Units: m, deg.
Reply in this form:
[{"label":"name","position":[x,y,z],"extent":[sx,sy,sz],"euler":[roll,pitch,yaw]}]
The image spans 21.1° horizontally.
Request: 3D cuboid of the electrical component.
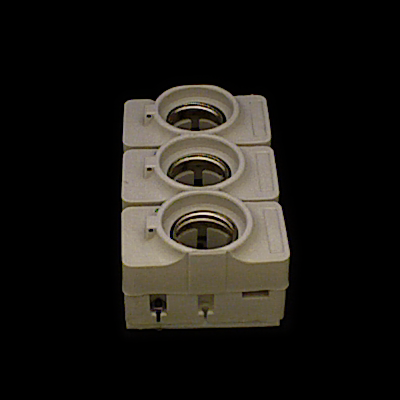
[{"label":"electrical component","position":[0.000,0.000,0.636],"extent":[0.089,0.063,0.147],"euler":[-2,41,-2]}]
